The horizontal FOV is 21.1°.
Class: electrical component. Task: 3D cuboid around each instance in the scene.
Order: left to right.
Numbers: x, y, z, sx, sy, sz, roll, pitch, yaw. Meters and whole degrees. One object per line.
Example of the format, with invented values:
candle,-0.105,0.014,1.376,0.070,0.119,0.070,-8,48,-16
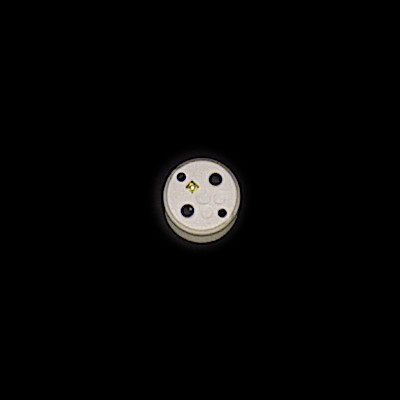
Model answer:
electrical component,0.000,0.000,0.629,0.045,0.045,0.055,0,-6,0
